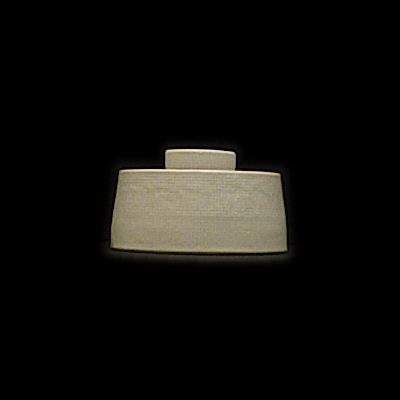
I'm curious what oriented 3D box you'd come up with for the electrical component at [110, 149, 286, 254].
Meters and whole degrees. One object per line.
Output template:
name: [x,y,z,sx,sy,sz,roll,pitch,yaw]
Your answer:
electrical component: [0.000,0.000,0.655,0.108,0.060,0.108,2,1,1]
